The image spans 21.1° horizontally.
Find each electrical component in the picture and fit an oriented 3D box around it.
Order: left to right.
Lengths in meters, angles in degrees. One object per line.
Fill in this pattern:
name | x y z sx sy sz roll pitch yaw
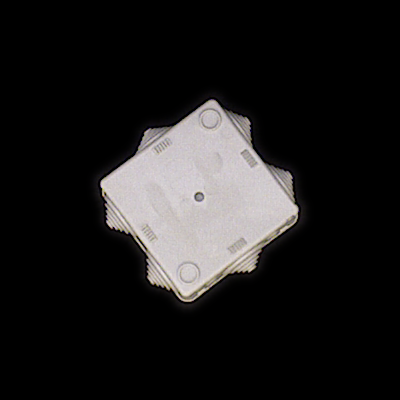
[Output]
electrical component | 0.000 0.000 0.632 0.100 0.100 0.048 -37 -5 -4
